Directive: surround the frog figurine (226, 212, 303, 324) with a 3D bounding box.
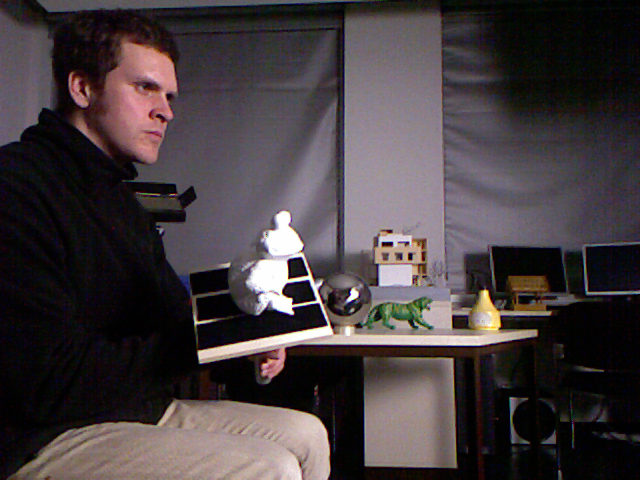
[{"bbox_3d":[-0.089,0.037,0.793,0.123,0.156,0.141,3,41,4],"label":"frog figurine"}]
